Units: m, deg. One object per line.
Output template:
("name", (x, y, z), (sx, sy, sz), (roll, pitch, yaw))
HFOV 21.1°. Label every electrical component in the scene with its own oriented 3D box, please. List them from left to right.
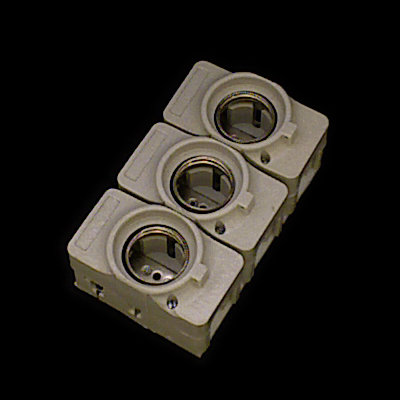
("electrical component", (0.000, 0.000, 0.631), (0.089, 0.149, 0.062), (28, -23, 13))
